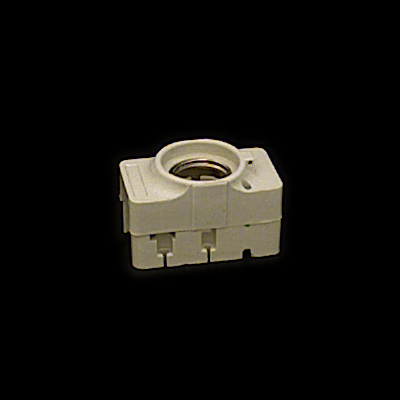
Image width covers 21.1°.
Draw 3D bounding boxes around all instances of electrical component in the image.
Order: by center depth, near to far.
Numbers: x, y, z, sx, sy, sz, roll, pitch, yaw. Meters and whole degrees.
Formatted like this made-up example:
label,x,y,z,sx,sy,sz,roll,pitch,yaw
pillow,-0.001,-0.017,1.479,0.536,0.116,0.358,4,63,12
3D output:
label,x,y,z,sx,sy,sz,roll,pitch,yaw
electrical component,0.000,0.000,0.642,0.090,0.056,0.049,-6,33,-11
